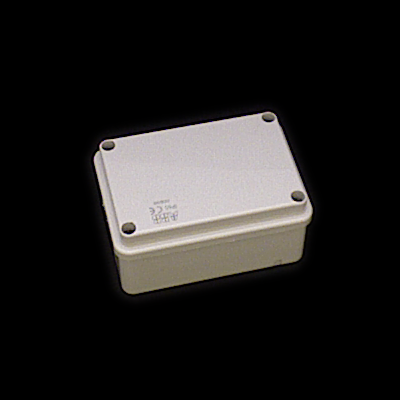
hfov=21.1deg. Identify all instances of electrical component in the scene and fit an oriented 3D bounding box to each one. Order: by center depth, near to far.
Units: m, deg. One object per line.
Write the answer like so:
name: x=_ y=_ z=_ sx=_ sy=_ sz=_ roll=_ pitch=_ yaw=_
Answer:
electrical component: x=0.000 y=0.000 z=0.627 sx=0.113 sy=0.078 sz=0.057 roll=-11 pitch=-37 yaw=-9
